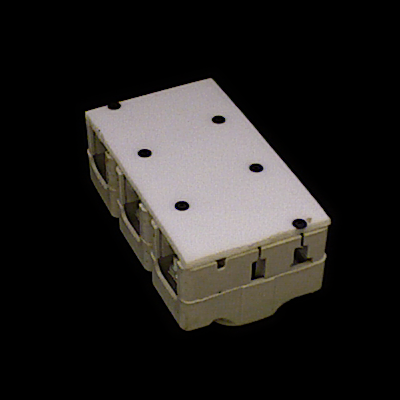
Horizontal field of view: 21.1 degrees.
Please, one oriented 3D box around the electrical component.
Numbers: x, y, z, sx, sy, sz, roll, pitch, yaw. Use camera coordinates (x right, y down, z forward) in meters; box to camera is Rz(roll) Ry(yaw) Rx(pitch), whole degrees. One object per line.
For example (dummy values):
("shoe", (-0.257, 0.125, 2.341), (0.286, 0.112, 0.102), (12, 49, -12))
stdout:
("electrical component", (0.000, 0.000, 0.637), (0.089, 0.063, 0.147), (-17, 44, -19))
